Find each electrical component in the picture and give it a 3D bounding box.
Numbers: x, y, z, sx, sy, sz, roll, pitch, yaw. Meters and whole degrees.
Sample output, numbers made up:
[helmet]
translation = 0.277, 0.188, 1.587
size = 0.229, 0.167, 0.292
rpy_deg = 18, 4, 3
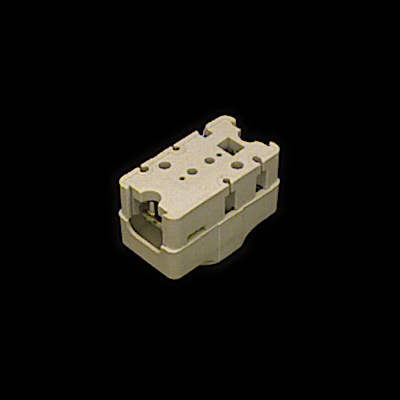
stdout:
[electrical component]
translation = 0.000, 0.000, 0.640
size = 0.090, 0.056, 0.049
rpy_deg = -33, 52, -32
